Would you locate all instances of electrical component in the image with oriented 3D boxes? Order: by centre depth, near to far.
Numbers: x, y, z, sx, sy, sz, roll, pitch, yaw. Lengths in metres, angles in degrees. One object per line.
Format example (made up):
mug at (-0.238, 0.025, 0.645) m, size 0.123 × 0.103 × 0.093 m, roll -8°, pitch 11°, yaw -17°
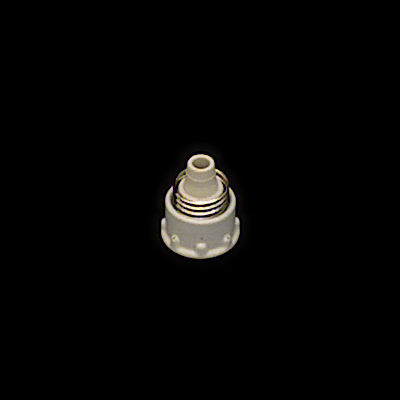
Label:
electrical component at (0.000, 0.000, 0.636) m, size 0.048 × 0.062 × 0.047 m, roll 0°, pitch 44°, yaw 0°
